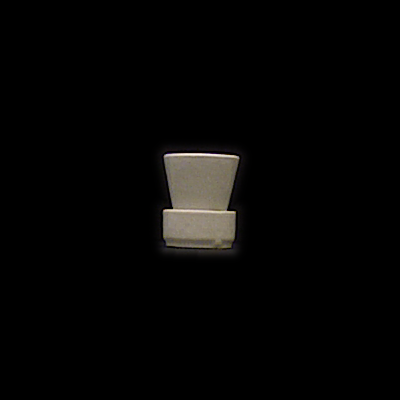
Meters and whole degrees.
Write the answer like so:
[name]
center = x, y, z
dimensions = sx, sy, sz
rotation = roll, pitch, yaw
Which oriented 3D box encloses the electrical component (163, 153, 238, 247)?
[electrical component]
center = 0.000, 0.000, 0.652
dimensions = 0.045, 0.055, 0.045
rotation = 2, 1, 0
